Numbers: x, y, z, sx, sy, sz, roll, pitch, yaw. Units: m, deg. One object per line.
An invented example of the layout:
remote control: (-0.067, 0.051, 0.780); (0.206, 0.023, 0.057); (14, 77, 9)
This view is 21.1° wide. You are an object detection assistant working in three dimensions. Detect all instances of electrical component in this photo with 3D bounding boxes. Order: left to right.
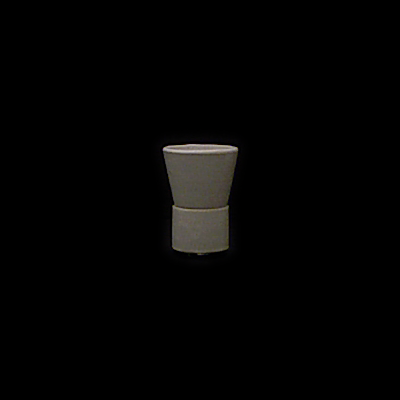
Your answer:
electrical component: (0.000, 0.000, 0.645); (0.044, 0.066, 0.044); (0, 11, 0)
